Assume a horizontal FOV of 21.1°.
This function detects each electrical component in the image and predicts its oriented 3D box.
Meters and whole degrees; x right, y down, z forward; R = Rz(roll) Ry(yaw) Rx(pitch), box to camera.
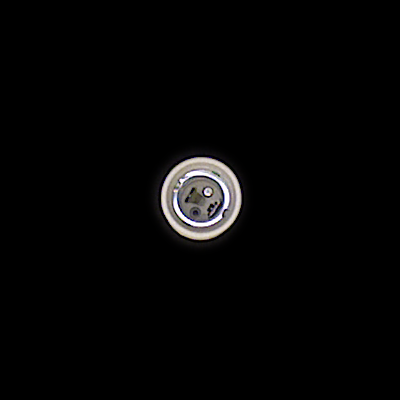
[{"bbox_3d":[0.000,0.000,0.629,0.045,0.045,0.055,0,-6,0],"label":"electrical component"}]
